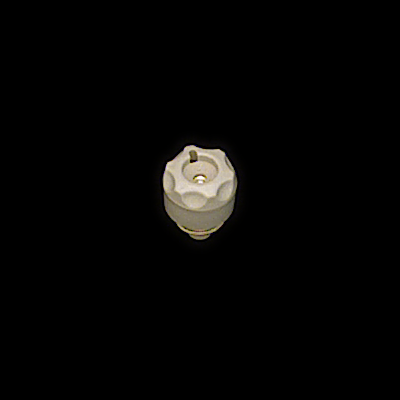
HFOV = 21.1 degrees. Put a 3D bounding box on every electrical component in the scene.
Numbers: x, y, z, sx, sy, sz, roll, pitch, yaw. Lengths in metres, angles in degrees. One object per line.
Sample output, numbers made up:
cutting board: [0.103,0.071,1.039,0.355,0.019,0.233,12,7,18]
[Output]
electrical component: [0.000,0.000,0.635,0.043,0.043,0.062,0,-36,-1]
